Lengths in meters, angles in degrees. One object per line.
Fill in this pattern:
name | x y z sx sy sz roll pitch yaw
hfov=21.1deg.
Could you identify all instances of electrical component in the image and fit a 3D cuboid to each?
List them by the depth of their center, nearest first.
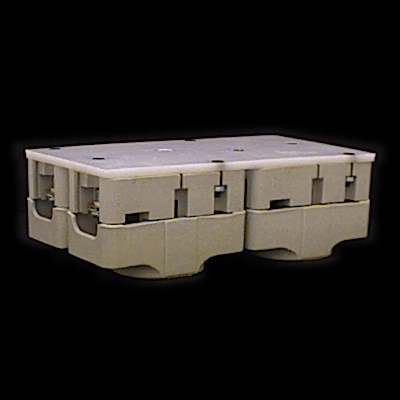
electrical component | 0.000 0.000 0.644 0.186 0.060 0.104 -5 12 -33
